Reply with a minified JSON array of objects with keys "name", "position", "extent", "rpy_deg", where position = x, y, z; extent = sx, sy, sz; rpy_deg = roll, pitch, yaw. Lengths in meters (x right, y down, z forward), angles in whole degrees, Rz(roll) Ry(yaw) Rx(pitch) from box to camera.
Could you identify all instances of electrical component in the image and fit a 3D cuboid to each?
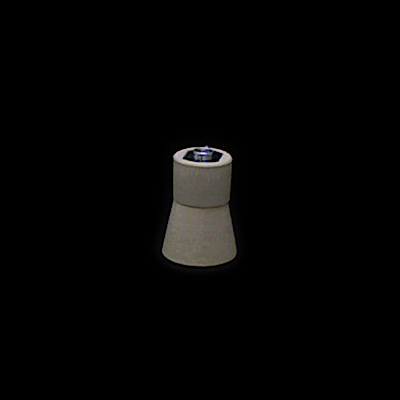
[{"name":"electrical component","position":[0.000,0.000,0.637],"extent":[0.044,0.066,0.044],"rpy_deg":[2,21,-1]}]
